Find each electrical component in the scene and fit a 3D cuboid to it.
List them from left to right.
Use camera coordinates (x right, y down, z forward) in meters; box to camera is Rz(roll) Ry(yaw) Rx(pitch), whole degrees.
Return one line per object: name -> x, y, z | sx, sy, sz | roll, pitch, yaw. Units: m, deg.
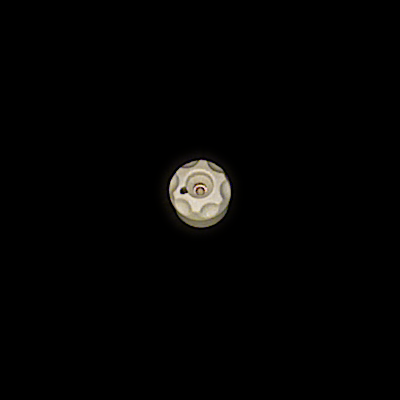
electrical component -> 0.000, 0.000, 0.633 | 0.035, 0.035, 0.061 | 0, -16, 1
